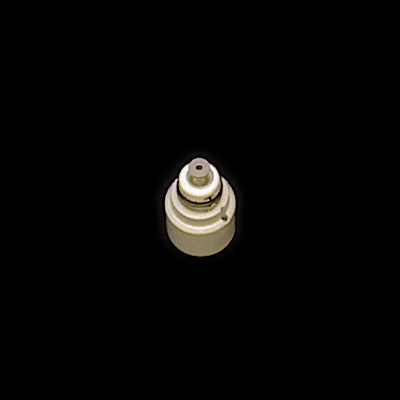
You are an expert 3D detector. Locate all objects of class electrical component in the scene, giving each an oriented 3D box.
[{"bbox_3d":[0.000,0.000,0.618,0.040,0.040,0.078,0,-28,1],"label":"electrical component"}]
